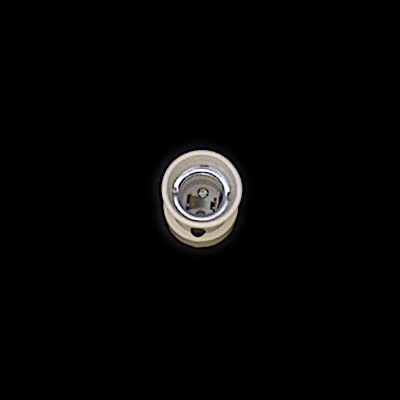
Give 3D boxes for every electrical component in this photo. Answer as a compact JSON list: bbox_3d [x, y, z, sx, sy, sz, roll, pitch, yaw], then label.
[{"bbox_3d":[0.000,0.000,0.628,0.045,0.045,0.055,0,-16,0],"label":"electrical component"}]
